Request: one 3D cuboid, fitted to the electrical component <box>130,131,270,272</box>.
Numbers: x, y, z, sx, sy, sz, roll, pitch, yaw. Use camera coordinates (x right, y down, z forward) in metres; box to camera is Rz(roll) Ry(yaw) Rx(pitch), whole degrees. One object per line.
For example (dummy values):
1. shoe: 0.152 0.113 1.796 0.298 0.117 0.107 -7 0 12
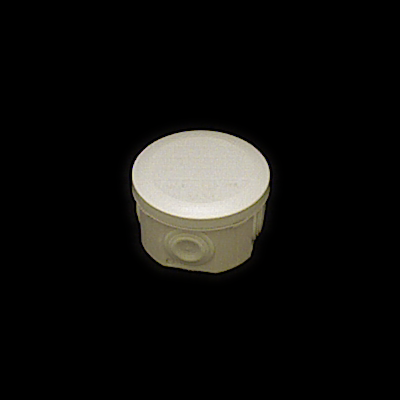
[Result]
1. electrical component: 0.000 0.000 0.633 0.080 0.051 0.079 1 42 0
